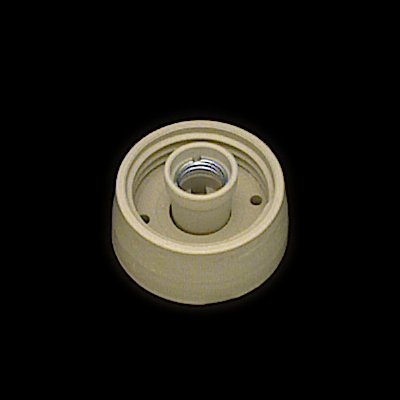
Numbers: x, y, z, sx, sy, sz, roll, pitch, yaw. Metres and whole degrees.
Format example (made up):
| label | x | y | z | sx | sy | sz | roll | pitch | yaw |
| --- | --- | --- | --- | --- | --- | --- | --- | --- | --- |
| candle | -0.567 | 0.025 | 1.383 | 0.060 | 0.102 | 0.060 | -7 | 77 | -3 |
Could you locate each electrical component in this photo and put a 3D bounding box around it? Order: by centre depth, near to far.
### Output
| label | x | y | z | sx | sy | sz | roll | pitch | yaw |
| --- | --- | --- | --- | --- | --- | --- | --- | --- | --- |
| electrical component | 0.000 | 0.000 | 0.634 | 0.108 | 0.107 | 0.060 | 0 | -37 | -1 |
